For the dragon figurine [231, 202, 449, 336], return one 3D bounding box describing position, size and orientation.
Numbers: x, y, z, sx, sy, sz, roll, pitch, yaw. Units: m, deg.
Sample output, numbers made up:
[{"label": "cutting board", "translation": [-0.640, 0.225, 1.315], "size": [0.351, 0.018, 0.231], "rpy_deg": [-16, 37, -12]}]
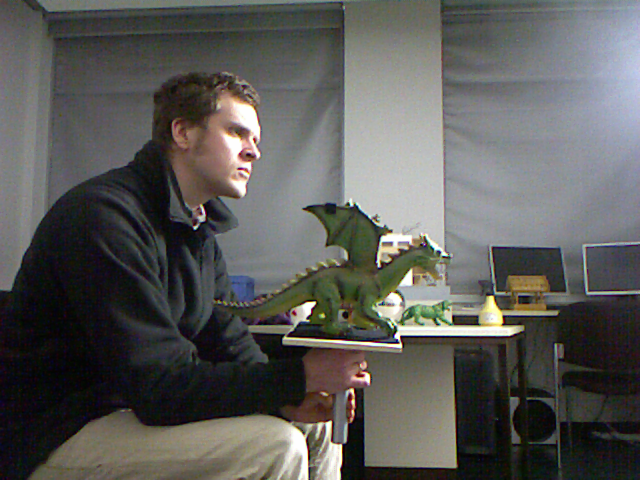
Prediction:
[{"label": "dragon figurine", "translation": [0.030, 0.050, 0.964], "size": [0.411, 0.242, 0.123], "rpy_deg": [3, 5, 8]}]
